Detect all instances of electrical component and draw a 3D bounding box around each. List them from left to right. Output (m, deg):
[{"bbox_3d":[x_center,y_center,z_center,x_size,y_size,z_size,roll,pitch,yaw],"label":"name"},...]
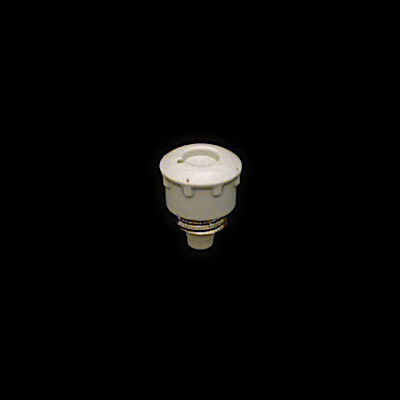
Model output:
[{"bbox_3d":[0.000,0.000,0.639,0.048,0.063,0.047,1,32,0],"label":"electrical component"}]
